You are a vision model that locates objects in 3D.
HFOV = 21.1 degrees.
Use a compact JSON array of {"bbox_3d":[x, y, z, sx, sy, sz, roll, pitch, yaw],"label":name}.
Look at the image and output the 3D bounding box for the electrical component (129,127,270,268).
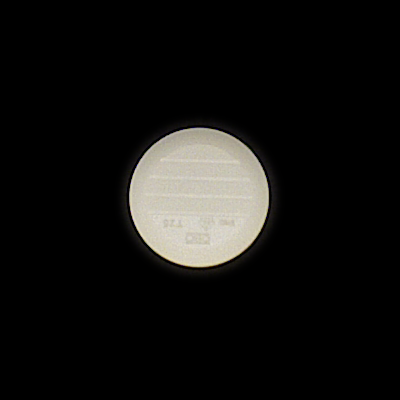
[{"bbox_3d":[0.000,0.000,0.631,0.080,0.080,0.050,0,-7,0],"label":"electrical component"}]
